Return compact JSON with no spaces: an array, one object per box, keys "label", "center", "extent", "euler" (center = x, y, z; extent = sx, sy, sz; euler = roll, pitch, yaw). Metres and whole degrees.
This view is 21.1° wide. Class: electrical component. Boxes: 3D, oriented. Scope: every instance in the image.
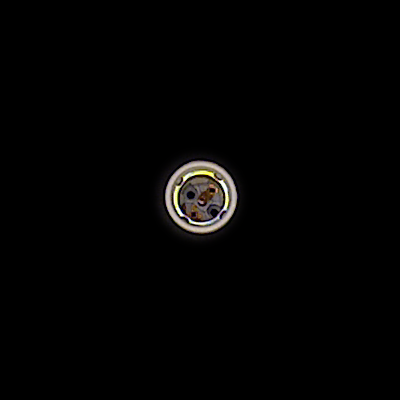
[{"label":"electrical component","center":[0.000,0.000,0.627],"extent":[0.040,0.040,0.046],"euler":[0,-6,0]}]
